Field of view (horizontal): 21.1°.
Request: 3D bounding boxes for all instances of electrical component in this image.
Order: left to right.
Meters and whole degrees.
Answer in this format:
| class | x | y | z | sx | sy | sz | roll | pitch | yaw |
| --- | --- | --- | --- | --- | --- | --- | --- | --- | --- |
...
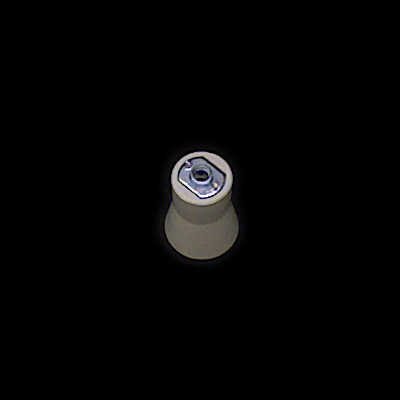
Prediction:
| class | x | y | z | sx | sy | sz | roll | pitch | yaw |
| --- | --- | --- | --- | --- | --- | --- | --- | --- | --- |
| electrical component | 0.000 | 0.000 | 0.625 | 0.044 | 0.044 | 0.065 | 0 | -28 | 0 |
